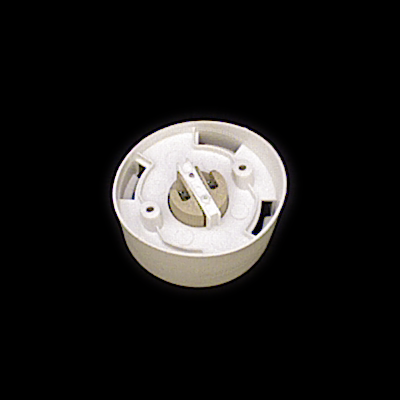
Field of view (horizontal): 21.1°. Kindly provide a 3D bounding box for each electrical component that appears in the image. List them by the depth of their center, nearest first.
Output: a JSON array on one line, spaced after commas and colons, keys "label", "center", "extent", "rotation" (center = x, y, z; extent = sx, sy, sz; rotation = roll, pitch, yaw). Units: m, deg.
[{"label": "electrical component", "center": [0.000, 0.000, 0.624], "extent": [0.099, 0.099, 0.064], "rotation": [0, -27, -1]}]
